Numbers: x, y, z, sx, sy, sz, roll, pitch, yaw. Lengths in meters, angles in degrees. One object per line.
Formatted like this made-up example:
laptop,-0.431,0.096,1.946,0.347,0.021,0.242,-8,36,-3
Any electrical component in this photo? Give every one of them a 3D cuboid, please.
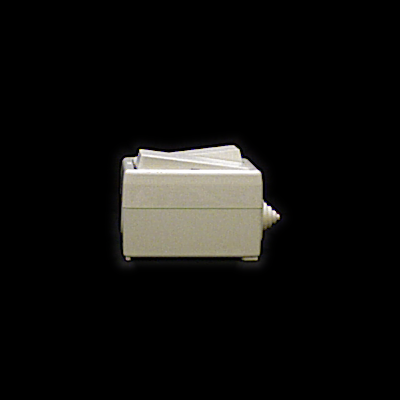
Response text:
electrical component,0.000,0.000,0.645,0.096,0.061,0.061,0,11,-5
